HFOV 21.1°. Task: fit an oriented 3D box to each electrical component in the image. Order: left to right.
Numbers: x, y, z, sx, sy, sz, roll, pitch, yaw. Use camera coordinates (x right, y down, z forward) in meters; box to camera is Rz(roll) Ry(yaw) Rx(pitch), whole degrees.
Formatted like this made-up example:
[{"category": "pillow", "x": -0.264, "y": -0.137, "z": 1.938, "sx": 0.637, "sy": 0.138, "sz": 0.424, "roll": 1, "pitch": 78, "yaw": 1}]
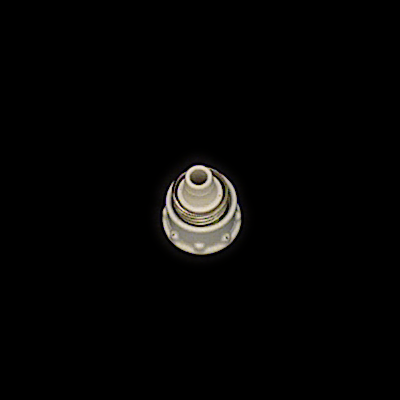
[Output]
[{"category": "electrical component", "x": 0.000, "y": 0.000, "z": 0.633, "sx": 0.048, "sy": 0.048, "sz": 0.062, "roll": 0, "pitch": -27, "yaw": 2}]
